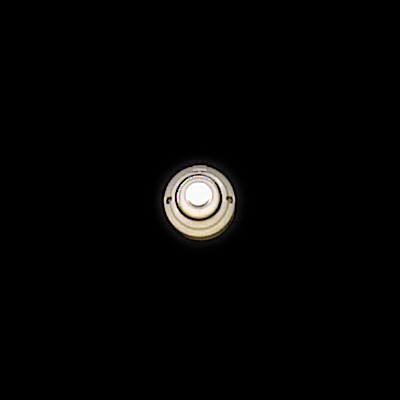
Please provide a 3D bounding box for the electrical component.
[{"bbox_3d":[0.000,0.000,0.618,0.040,0.040,0.078,0,-6,1],"label":"electrical component"}]
